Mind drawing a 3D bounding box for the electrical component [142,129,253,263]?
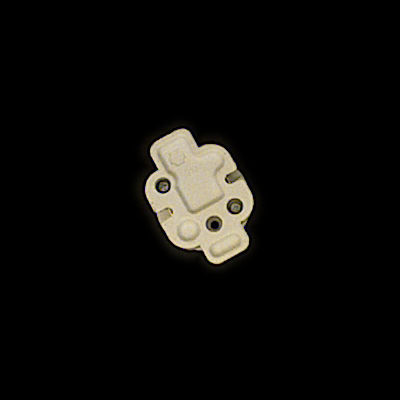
[{"bbox_3d":[0.000,0.000,0.637,0.058,0.078,0.056,-30,-7,-1],"label":"electrical component"}]
